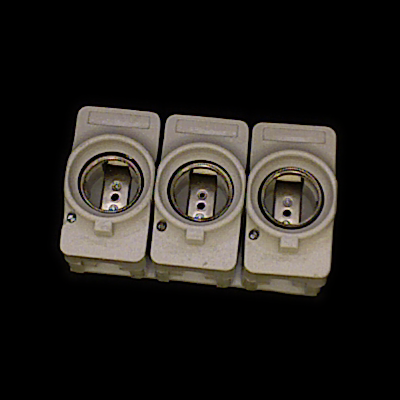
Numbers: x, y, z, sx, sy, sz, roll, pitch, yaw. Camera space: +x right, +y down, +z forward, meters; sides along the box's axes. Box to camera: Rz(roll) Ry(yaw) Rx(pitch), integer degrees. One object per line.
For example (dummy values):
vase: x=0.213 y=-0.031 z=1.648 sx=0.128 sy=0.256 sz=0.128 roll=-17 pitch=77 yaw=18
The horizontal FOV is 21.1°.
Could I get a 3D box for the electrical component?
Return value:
electrical component: x=0.000 y=0.000 z=0.631 sx=0.150 sy=0.089 sz=0.062 roll=5 pitch=-16 yaw=2
